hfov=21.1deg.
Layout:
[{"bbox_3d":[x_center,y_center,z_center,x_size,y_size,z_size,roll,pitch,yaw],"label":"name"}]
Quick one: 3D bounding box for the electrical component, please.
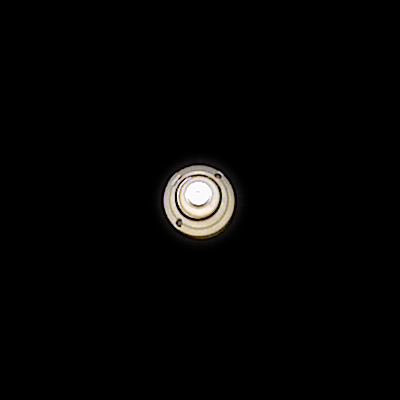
[{"bbox_3d":[0.000,0.000,0.618,0.040,0.040,0.078,0,-5,0],"label":"electrical component"}]
